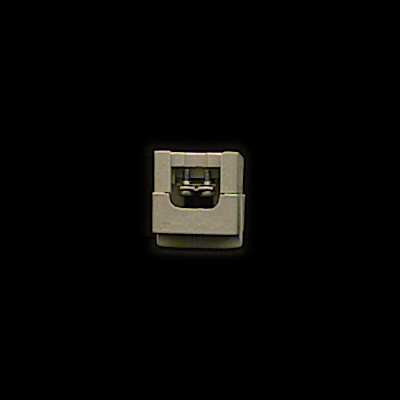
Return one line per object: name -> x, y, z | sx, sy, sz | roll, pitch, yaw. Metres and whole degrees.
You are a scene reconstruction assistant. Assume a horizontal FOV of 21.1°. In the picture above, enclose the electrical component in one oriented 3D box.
electrical component -> 0.000, 0.000, 0.656 | 0.050, 0.056, 0.089 | 1, 0, 4
